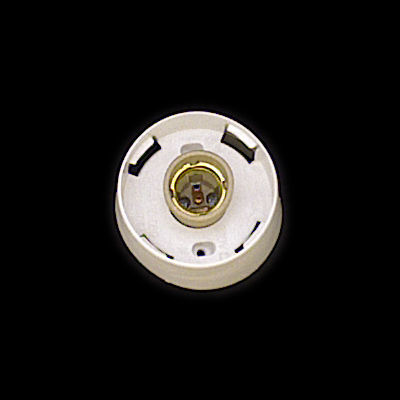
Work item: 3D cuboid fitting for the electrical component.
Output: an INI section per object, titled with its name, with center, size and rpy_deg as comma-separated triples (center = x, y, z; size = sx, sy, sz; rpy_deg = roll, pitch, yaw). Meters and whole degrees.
[electrical component]
center = 0.000, 0.000, 0.624
size = 0.099, 0.099, 0.063
rpy_deg = 0, -17, -1
